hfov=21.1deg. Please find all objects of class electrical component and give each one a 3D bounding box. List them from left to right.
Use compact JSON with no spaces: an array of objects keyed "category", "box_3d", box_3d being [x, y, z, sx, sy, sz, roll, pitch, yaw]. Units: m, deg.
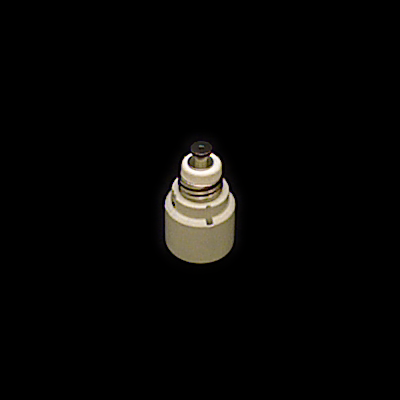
[{"category":"electrical component","box_3d":[0.000,0.000,0.626,0.040,0.079,0.039,1,43,-1]}]
